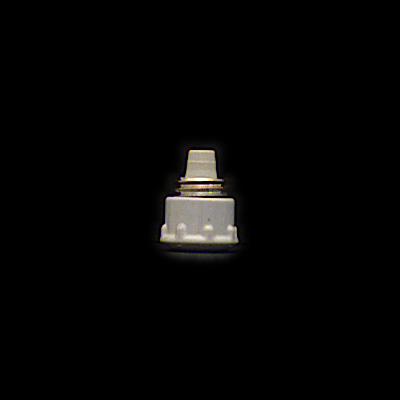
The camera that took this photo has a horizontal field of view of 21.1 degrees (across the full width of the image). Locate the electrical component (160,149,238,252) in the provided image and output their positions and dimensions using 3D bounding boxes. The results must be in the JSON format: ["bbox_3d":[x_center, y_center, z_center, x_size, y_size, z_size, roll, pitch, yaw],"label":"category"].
[{"bbox_3d":[0.000,0.000,0.655,0.048,0.062,0.048,2,3,0],"label":"electrical component"}]
